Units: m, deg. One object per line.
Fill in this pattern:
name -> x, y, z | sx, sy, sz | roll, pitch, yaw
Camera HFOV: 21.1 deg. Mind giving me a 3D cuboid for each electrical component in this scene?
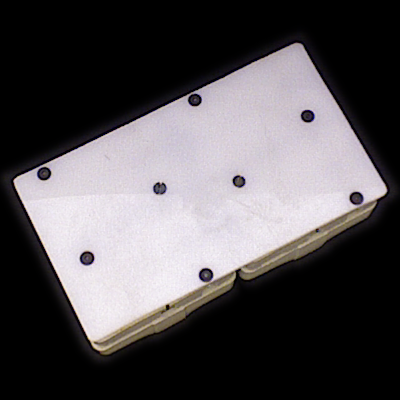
electrical component -> 0.000, 0.000, 0.625 | 0.187, 0.106, 0.060 | -26, -15, -8
